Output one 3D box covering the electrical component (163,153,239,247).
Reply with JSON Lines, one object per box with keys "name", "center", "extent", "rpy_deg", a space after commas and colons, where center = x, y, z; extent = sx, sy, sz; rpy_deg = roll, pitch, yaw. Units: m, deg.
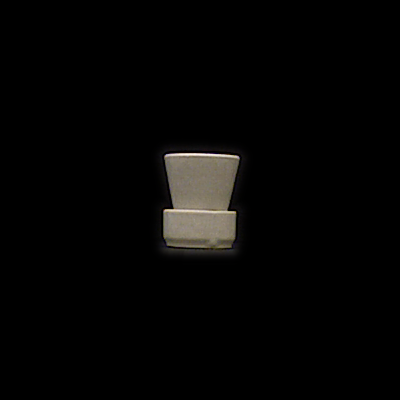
{"name": "electrical component", "center": [0.000, 0.000, 0.651], "extent": [0.045, 0.055, 0.045], "rpy_deg": [2, 1, 0]}
